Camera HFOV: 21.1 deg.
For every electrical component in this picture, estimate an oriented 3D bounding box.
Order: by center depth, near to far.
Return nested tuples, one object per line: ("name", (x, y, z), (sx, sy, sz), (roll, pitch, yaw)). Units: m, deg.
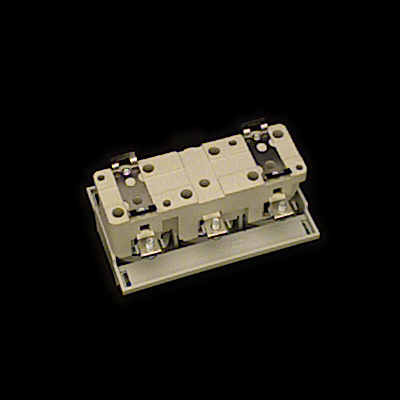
("electrical component", (0.000, 0.000, 0.637), (0.122, 0.078, 0.063), (-15, -36, -12))
